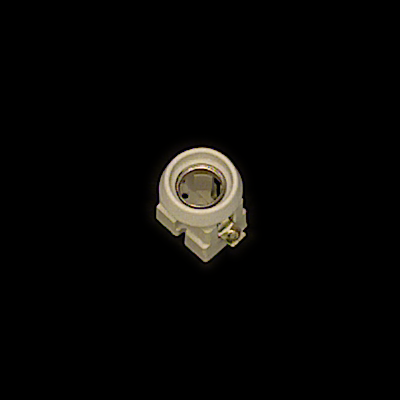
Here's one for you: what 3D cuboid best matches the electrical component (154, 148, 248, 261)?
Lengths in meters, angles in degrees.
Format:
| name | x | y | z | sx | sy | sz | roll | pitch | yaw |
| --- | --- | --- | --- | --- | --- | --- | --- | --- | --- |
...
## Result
| name | x | y | z | sx | sy | sz | roll | pitch | yaw |
| --- | --- | --- | --- | --- | --- | --- | --- | --- | --- |
| electrical component | 0.000 | 0.000 | 0.637 | 0.066 | 0.048 | 0.055 | 40 | -18 | 18 |
